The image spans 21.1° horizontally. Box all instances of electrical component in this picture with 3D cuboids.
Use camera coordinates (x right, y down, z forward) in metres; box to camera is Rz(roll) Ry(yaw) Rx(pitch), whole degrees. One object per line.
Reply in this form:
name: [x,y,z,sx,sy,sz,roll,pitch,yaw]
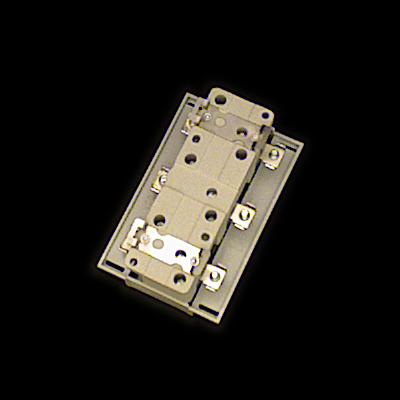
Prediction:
electrical component: [0.000,0.000,0.633,0.078,0.122,0.062,24,-15,8]
